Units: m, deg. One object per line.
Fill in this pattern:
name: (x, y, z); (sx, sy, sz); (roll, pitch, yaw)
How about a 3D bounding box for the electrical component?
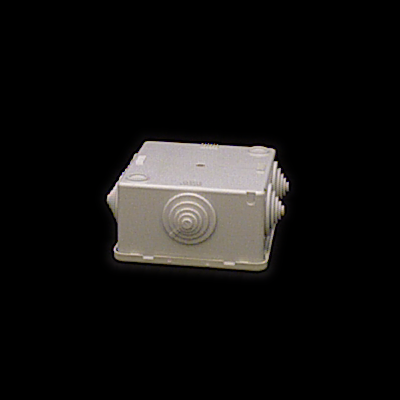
electrical component: (0.000, 0.000, 0.640); (0.099, 0.049, 0.098); (4, 21, 7)
